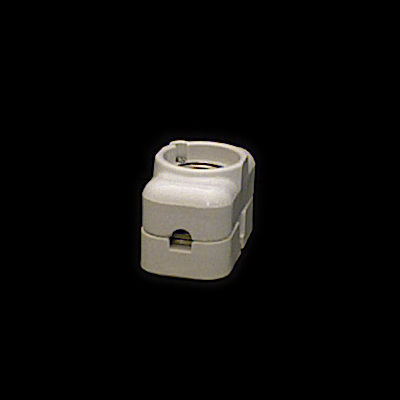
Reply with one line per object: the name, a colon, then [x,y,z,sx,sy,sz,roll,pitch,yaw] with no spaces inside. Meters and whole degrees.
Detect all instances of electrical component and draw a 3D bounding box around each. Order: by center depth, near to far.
electrical component: [0.000,0.000,0.646,0.053,0.060,0.094,6,22,11]
